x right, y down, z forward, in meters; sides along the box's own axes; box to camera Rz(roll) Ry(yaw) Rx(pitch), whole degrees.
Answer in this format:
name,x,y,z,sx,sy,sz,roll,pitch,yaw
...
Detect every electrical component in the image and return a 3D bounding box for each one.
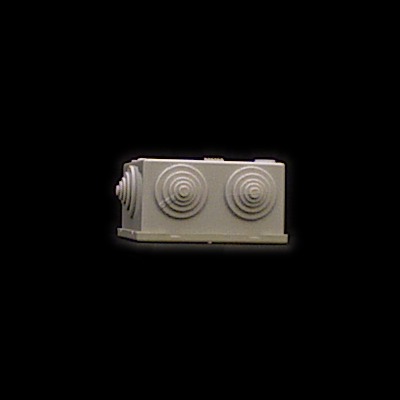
name,x,y,z,sx,sy,sz,roll,pitch,yaw
electrical component,0.000,0.000,0.650,0.100,0.048,0.099,1,0,-12
